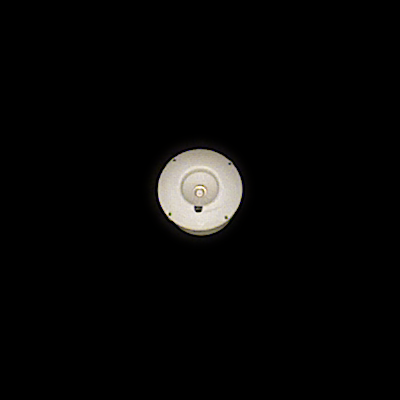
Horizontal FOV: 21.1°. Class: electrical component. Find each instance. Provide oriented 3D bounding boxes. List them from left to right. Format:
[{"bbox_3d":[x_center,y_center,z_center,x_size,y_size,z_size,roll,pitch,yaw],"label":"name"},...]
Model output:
[{"bbox_3d":[0.000,0.000,0.633,0.048,0.048,0.061,0,-16,1],"label":"electrical component"}]
